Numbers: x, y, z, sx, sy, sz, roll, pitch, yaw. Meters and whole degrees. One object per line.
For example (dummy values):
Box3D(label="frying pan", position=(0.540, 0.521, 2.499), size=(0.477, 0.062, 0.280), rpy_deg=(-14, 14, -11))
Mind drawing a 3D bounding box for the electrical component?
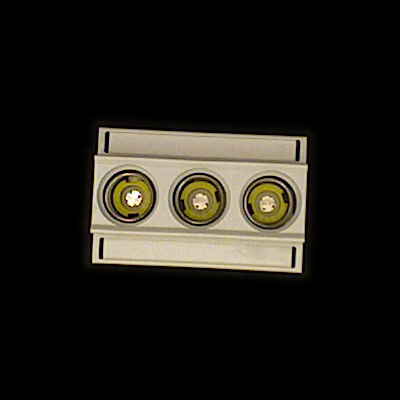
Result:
Box3D(label="electrical component", position=(0.000, 0.000, 0.637), size=(0.121, 0.079, 0.063), rpy_deg=(3, -4, 1))
